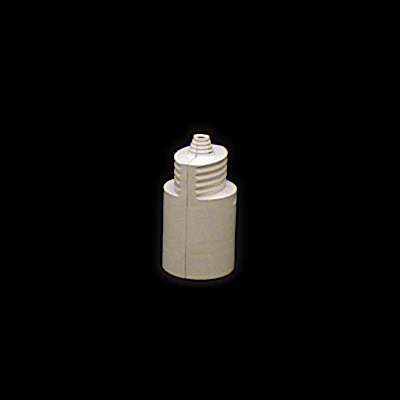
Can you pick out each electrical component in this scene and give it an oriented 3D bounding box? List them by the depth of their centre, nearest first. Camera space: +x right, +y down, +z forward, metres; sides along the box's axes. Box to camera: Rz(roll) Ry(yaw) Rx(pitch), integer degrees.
[{"bbox_3d":[0.000,0.000,0.634,0.043,0.082,0.042,1,21,0],"label":"electrical component"}]
